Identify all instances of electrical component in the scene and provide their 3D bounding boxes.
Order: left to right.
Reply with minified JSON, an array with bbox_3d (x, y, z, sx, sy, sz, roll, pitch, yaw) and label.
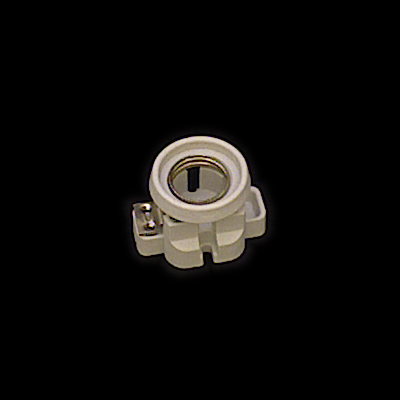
[{"bbox_3d":[0.000,0.000,0.629,0.079,0.057,0.057,-10,-37,-8],"label":"electrical component"}]
